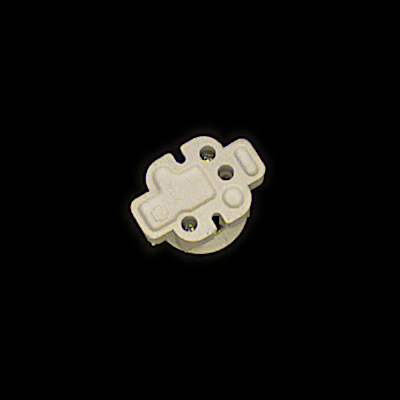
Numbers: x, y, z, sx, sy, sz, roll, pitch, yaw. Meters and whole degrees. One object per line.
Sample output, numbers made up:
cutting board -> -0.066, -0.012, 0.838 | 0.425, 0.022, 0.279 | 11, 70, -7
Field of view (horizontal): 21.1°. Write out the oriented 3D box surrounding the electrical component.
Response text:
electrical component -> 0.000, 0.000, 0.635 | 0.079, 0.058, 0.056 | -31, -13, -7
